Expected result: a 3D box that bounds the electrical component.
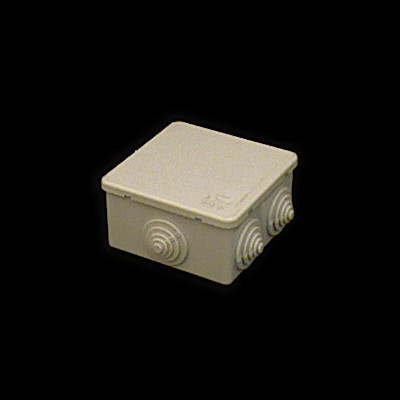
[{"bbox_3d":[0.000,0.000,0.644,0.099,0.049,0.099,17,36,24],"label":"electrical component"}]
